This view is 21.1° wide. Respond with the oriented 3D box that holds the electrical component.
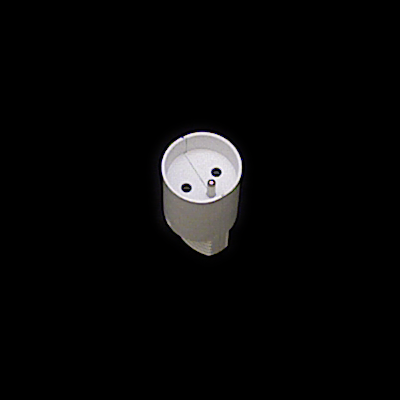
[{"bbox_3d":[0.000,0.000,0.616,0.043,0.043,0.081,0,-26,0],"label":"electrical component"}]
